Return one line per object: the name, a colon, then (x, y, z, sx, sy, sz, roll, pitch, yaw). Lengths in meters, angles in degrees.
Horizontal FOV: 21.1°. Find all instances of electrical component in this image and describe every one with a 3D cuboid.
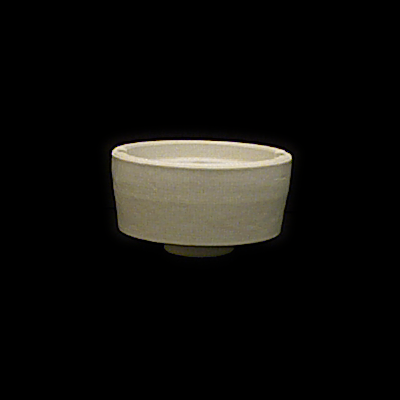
electrical component: (0.000, 0.000, 0.648, 0.108, 0.061, 0.107, 2, 11, 0)
